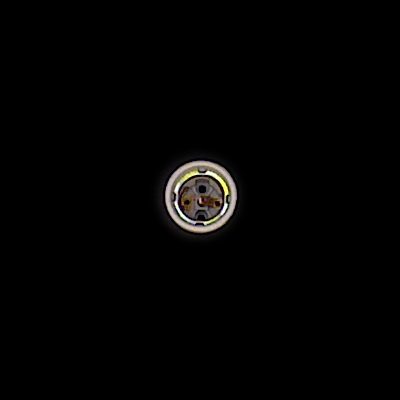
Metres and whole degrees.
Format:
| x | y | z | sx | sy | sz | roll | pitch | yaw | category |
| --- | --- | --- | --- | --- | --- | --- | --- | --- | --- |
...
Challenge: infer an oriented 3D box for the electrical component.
| x | y | z | sx | sy | sz | roll | pitch | yaw | category |
| --- | --- | --- | --- | --- | --- | --- | --- | --- | --- |
| 0.000 | 0.000 | 0.628 | 0.040 | 0.040 | 0.046 | 0 | -7 | 0 | electrical component |
